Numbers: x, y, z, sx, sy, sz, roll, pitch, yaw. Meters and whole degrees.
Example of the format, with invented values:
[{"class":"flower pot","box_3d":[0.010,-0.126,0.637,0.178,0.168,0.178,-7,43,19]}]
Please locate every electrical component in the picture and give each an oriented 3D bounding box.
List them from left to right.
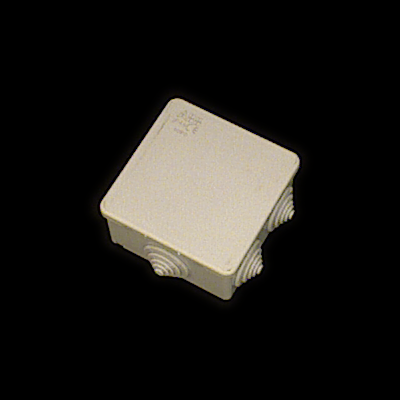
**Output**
[{"class":"electrical component","box_3d":[0.000,0.000,0.640,0.099,0.100,0.048,27,-24,13]}]
